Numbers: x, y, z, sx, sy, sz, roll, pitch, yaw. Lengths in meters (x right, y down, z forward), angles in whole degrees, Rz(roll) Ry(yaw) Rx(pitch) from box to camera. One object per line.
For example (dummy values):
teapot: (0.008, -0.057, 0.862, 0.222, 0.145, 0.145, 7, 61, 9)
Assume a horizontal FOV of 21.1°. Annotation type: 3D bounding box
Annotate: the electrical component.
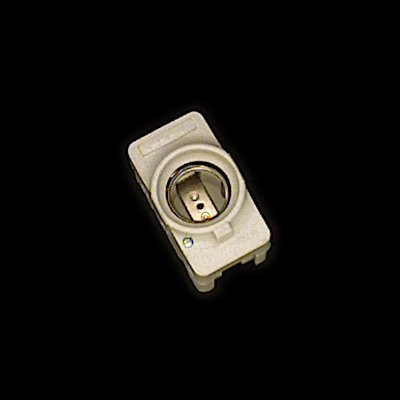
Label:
electrical component: (0.000, 0.000, 0.636, 0.050, 0.089, 0.055, -28, -14, -7)
